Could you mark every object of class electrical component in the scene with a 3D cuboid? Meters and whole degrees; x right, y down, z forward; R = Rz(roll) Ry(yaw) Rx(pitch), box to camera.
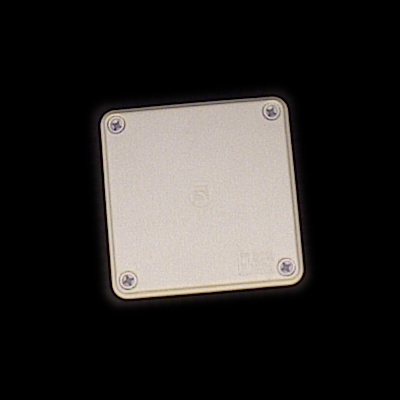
[{"bbox_3d":[0.000,0.000,0.631,0.109,0.109,0.056,-5,-7,0],"label":"electrical component"}]
